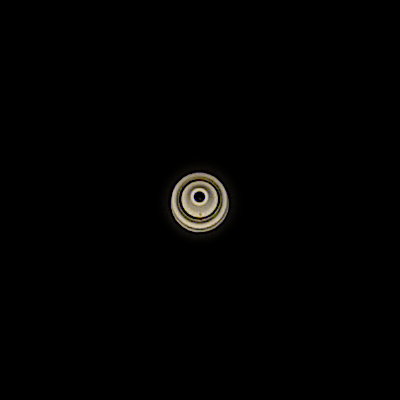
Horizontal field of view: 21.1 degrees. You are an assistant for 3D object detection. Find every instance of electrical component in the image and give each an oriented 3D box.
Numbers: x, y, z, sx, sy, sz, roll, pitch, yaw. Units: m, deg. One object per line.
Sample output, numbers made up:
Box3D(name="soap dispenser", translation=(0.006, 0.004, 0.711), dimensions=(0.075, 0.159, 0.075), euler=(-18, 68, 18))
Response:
Box3D(name="electrical component", translation=(0.000, 0.000, 0.638), dimensions=(0.035, 0.035, 0.061), euler=(0, -4, 0))
